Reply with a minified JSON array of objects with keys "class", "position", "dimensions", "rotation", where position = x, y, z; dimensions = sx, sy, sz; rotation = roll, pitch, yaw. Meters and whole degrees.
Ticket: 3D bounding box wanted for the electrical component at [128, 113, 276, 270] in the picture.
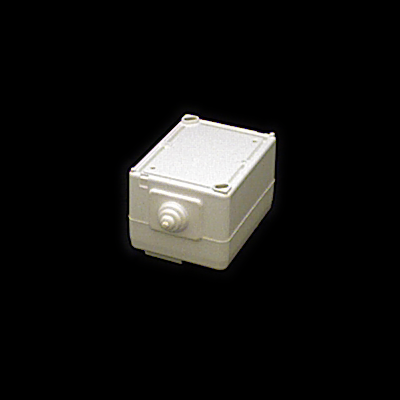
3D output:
[{"class":"electrical component","position":[-0.001,0.000,0.627],"dimensions":[0.061,0.061,0.095],"rotation":[14,33,19]}]
